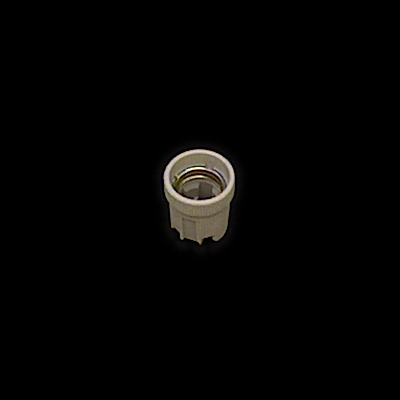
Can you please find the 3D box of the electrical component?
[{"bbox_3d":[0.000,0.000,0.629,0.040,0.040,0.046,0,-38,-1],"label":"electrical component"}]
